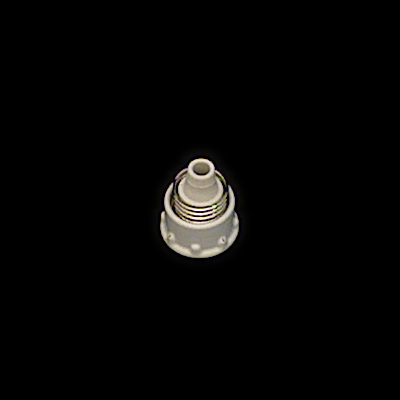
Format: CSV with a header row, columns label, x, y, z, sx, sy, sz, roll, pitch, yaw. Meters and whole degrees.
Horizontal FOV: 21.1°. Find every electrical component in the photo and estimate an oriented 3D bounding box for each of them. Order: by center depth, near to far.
label,x,y,z,sx,sy,sz,roll,pitch,yaw
electrical component,0.000,0.000,0.636,0.048,0.048,0.062,0,-37,-2
